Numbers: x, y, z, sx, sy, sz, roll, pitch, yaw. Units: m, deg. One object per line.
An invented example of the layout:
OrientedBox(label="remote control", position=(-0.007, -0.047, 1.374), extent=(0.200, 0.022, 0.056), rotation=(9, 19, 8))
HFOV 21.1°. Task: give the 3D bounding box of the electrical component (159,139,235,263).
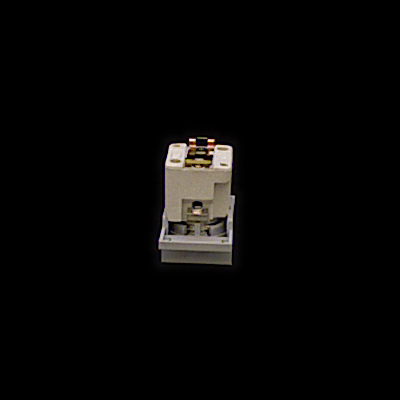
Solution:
OrientedBox(label="electrical component", position=(0.000, 0.000, 0.638), extent=(0.042, 0.064, 0.080), rotation=(2, 21, 2))
